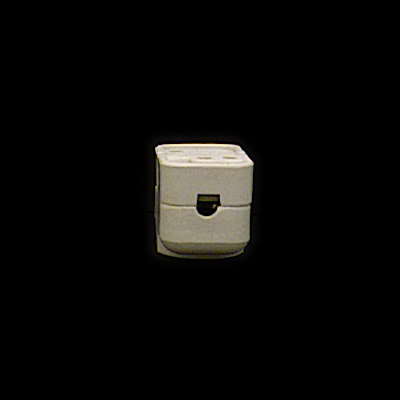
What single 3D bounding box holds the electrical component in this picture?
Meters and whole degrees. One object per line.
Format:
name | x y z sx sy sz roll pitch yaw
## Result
electrical component | 0.000 0.000 0.653 0.054 0.060 0.094 0 10 -5
